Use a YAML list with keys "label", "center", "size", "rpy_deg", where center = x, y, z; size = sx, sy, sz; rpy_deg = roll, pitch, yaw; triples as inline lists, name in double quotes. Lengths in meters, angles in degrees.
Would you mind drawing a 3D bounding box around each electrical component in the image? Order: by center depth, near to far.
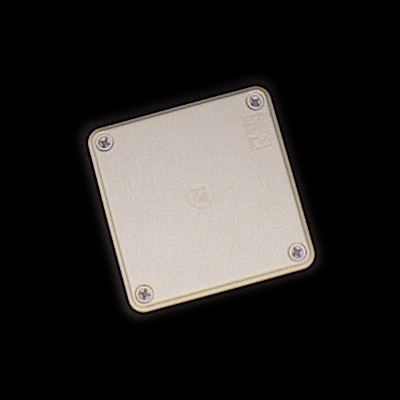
- label: "electrical component"
  center: [0.000, 0.000, 0.630]
  size: [0.109, 0.109, 0.056]
  rpy_deg: [-15, -6, -1]
